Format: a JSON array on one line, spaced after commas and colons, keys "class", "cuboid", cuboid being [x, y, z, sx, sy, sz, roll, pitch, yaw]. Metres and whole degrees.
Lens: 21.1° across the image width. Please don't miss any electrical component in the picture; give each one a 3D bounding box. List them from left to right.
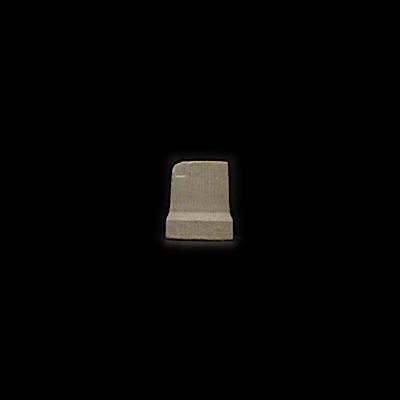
[{"class": "electrical component", "cuboid": [0.000, 0.000, 0.650, 0.040, 0.046, 0.040, 2, 1, 0]}]
